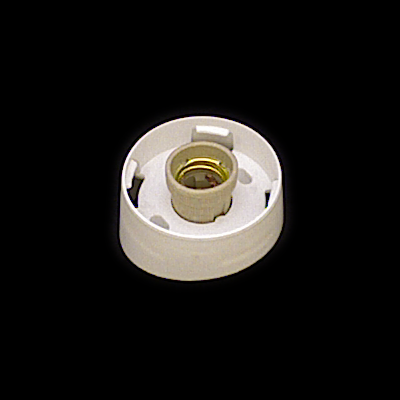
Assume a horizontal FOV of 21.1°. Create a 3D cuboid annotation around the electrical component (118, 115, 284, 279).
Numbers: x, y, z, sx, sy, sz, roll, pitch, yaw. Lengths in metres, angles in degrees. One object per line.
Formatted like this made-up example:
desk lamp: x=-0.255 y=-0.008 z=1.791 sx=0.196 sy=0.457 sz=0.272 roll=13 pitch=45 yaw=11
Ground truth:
electrical component: x=0.000 y=0.000 z=0.627 sx=0.099 sy=0.098 sz=0.064 roll=0 pitch=-38 yaw=0
